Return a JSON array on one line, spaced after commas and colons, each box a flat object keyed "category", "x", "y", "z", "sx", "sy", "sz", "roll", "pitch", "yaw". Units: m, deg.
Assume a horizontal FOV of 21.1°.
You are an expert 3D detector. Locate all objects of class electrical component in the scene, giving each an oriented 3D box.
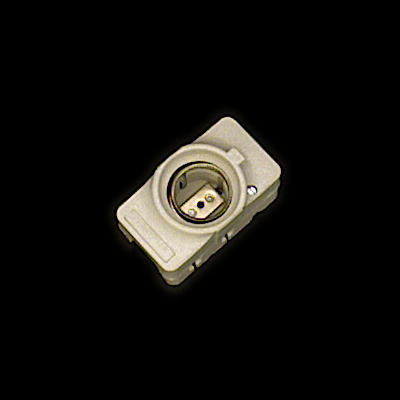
[{"category": "electrical component", "x": 0.000, "y": 0.000, "z": 0.636, "sx": 0.090, "sy": 0.050, "sz": 0.055, "roll": -42, "pitch": -12, "yaw": -11}]
